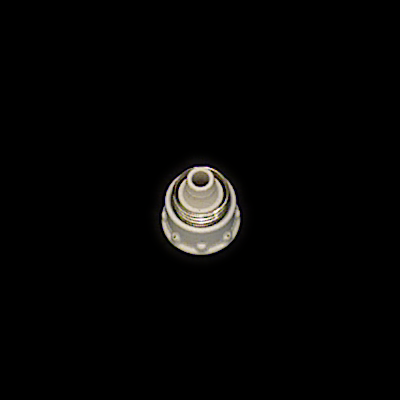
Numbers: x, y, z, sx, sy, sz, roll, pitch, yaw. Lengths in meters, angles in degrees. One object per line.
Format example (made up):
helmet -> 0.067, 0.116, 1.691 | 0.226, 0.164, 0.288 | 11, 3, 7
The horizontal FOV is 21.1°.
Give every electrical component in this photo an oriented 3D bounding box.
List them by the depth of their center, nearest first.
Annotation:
electrical component -> 0.000, 0.000, 0.633 | 0.048, 0.048, 0.062 | 0, -26, 0
